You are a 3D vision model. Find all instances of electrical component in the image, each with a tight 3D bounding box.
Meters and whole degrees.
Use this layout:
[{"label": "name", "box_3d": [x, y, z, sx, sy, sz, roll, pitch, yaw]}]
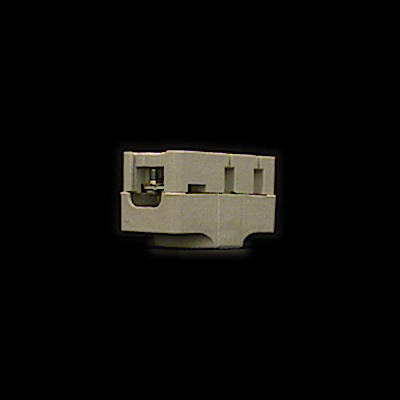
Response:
[{"label": "electrical component", "box_3d": [0.000, 0.000, 0.657, 0.049, 0.056, 0.090, 2, 1, 44]}]
